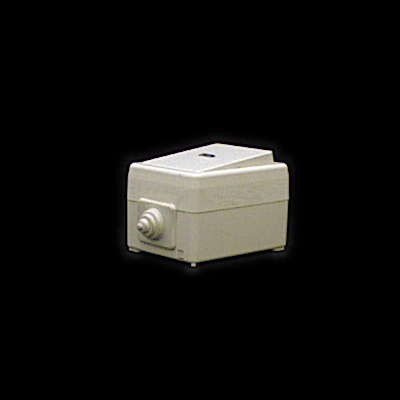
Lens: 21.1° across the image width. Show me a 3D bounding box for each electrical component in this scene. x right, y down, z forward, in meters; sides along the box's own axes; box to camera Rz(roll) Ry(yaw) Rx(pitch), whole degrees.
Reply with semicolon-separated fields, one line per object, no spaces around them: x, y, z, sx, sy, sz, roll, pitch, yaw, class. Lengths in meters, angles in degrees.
0.000;0.000;0.643;0.096;0.061;0.061;-8;14;-43;electrical component
